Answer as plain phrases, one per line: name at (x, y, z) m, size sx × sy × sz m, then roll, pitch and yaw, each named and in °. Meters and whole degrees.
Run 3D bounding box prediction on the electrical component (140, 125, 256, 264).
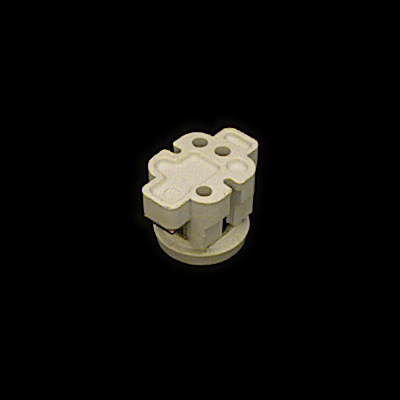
electrical component at (0.000, 0.000, 0.637) m, size 0.057 × 0.057 × 0.079 m, roll 31°, pitch 52°, yaw 28°
